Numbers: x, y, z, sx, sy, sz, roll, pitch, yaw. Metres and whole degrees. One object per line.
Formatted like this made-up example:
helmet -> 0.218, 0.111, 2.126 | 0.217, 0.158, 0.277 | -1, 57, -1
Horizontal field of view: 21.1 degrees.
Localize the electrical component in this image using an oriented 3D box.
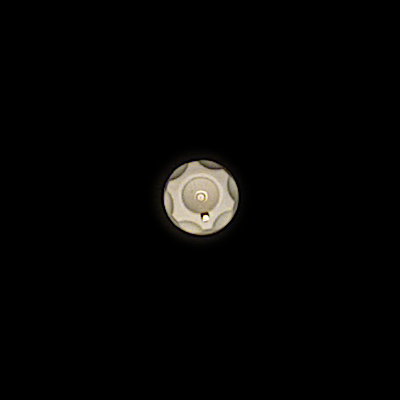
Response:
electrical component -> 0.000, 0.000, 0.635 | 0.043, 0.043, 0.062 | 0, -6, 2
